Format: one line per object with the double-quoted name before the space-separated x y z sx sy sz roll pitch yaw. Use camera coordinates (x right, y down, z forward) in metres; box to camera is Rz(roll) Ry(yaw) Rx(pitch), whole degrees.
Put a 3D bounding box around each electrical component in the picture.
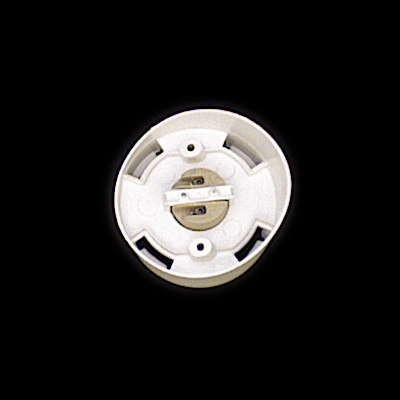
"electrical component" 0.000 0.000 0.624 0.099 0.099 0.064 0 -17 -1
